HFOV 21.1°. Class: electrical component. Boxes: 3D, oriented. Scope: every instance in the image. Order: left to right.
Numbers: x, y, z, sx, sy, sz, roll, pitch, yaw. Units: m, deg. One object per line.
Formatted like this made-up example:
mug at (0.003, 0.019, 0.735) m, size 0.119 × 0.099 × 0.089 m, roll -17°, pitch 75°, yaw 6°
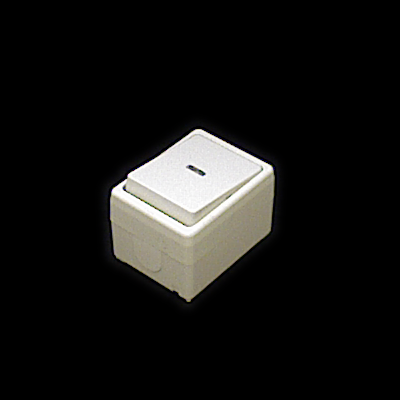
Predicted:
electrical component at (0.000, 0.000, 0.631) m, size 0.061 × 0.061 × 0.096 m, roll 29°, pitch 49°, yaw 28°
